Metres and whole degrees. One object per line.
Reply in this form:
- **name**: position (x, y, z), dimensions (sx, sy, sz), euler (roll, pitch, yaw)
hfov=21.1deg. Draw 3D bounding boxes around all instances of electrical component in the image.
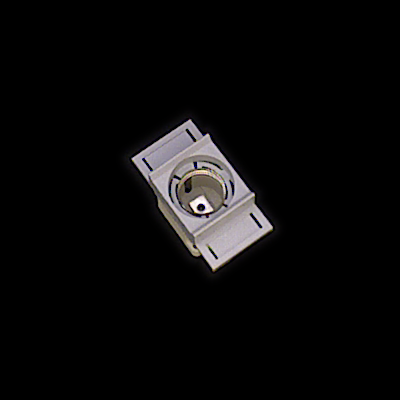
- **electrical component**: position (0.000, 0.000, 0.623), dimensions (0.042, 0.081, 0.063), euler (-34, -14, -10)
